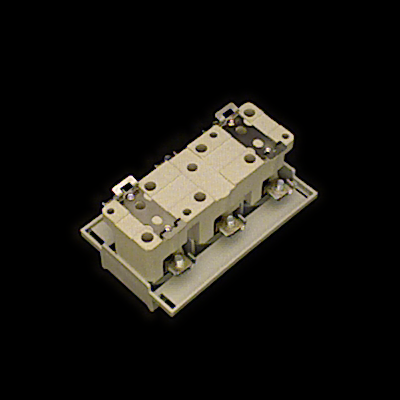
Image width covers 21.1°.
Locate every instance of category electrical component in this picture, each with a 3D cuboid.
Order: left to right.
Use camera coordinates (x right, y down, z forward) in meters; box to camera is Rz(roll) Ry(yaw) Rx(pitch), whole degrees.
[{"bbox_3d":[0.000,0.000,0.634,0.122,0.063,0.078,-38,62,-25],"label":"electrical component"}]
